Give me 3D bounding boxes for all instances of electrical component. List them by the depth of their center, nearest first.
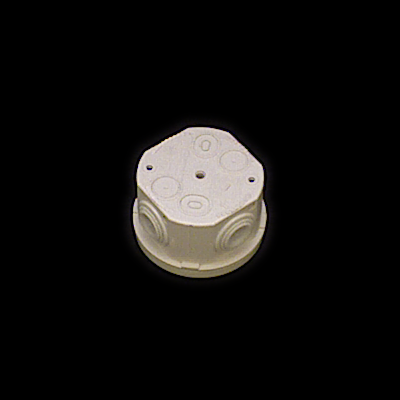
[{"bbox_3d":[0.000,0.000,0.633,0.080,0.080,0.051,0,-38,-1],"label":"electrical component"}]
